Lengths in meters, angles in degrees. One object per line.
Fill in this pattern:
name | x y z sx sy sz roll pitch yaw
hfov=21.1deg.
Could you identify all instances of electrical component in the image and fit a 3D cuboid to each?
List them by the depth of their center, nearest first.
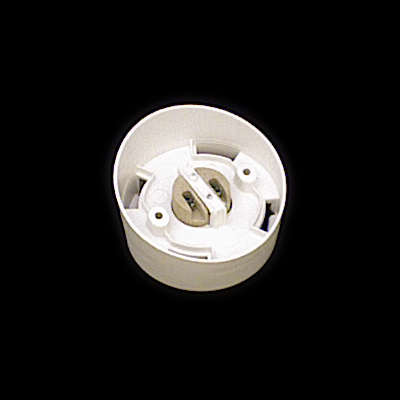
electrical component | 0.000 0.000 0.626 0.099 0.098 0.064 0 -38 0
